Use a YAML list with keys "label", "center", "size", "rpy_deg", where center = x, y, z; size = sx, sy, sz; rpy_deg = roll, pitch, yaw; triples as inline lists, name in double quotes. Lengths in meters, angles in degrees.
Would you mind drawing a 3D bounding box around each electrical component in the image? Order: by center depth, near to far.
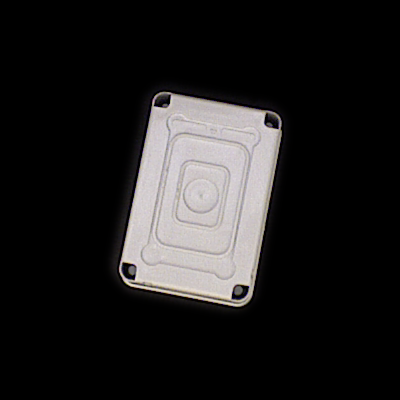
- label: "electrical component"
  center: [0.000, 0.000, 0.628]
  size: [0.078, 0.113, 0.057]
  rpy_deg: [11, -7, 2]
